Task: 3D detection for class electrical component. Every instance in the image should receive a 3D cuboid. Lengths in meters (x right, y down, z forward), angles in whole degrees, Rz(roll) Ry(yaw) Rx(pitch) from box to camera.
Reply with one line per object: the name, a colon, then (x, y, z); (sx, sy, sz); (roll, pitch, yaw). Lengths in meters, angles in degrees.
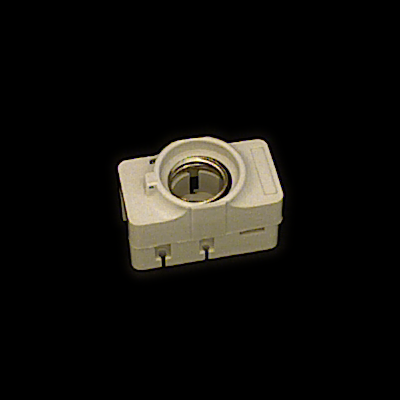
electrical component: (0.000, 0.000, 0.637); (0.090, 0.050, 0.056); (-10, -36, -8)
